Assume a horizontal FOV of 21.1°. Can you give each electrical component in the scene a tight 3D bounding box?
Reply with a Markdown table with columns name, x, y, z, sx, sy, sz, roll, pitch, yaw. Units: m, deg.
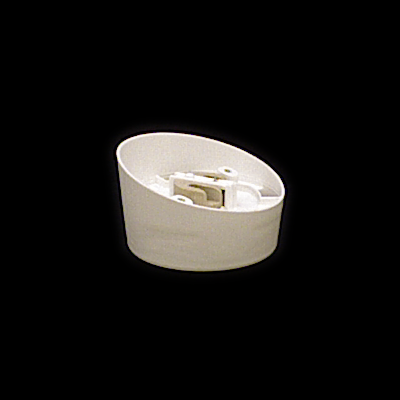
| name | x | y | z | sx | sy | sz | roll | pitch | yaw |
| --- | --- | --- | --- | --- | --- | --- | --- | --- | --- |
| electrical component | 0.000 | 0.000 | 0.637 | 0.099 | 0.065 | 0.097 | 0 | 21 | 0 |
